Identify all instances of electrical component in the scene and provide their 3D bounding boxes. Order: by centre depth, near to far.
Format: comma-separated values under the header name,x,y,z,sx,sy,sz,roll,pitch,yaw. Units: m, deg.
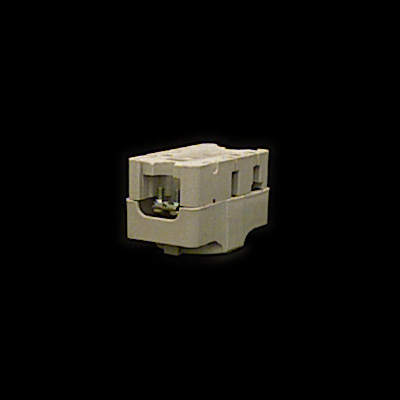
name,x,y,z,sx,sy,sz,roll,pitch,yaw
electrical component,0.000,0.000,0.651,0.049,0.056,0.090,9,14,31
